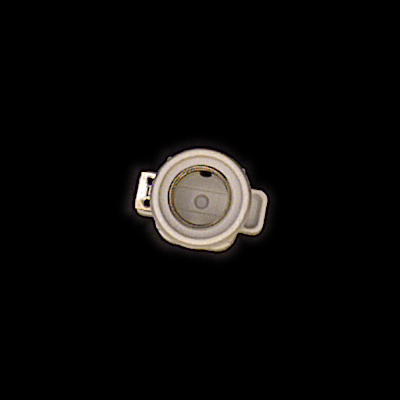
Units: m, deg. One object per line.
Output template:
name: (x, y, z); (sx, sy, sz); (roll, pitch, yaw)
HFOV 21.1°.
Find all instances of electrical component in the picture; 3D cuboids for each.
electrical component: (0.000, 0.000, 0.630); (0.078, 0.058, 0.056); (10, -6, 1)
